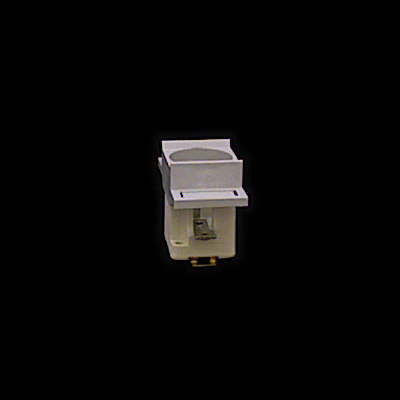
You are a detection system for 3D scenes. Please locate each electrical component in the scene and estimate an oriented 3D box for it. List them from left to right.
[{"bbox_3d":[0.000,0.000,0.635,0.042,0.064,0.080,-1,20,-8],"label":"electrical component"}]
